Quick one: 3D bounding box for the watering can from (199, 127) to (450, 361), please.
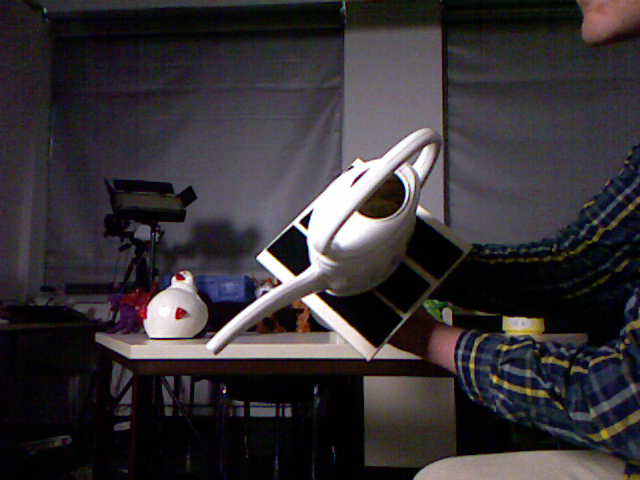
[{"bbox_3d":[0.022,0.014,0.588,0.106,0.354,0.222,42,-13,20],"label":"watering can"}]
